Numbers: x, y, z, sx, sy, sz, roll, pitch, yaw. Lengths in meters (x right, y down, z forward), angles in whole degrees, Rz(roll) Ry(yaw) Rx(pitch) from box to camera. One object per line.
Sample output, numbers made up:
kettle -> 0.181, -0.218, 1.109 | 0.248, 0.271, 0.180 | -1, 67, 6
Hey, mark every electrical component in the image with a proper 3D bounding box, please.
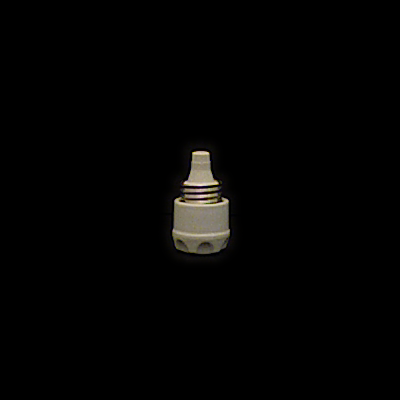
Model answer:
electrical component -> 0.000, 0.000, 0.655 | 0.035, 0.062, 0.035 | 0, 11, 0
